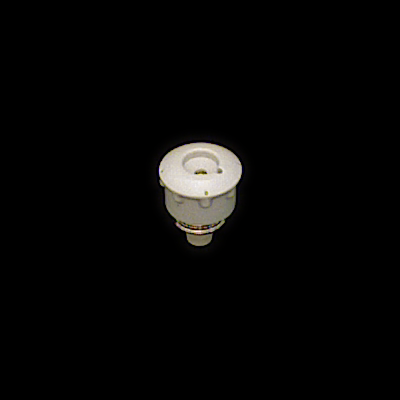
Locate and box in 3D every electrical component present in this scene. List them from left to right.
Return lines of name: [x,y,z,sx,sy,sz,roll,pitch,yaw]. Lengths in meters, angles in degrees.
electrical component: [0.000,0.000,0.639,0.048,0.062,0.047,1,43,0]
